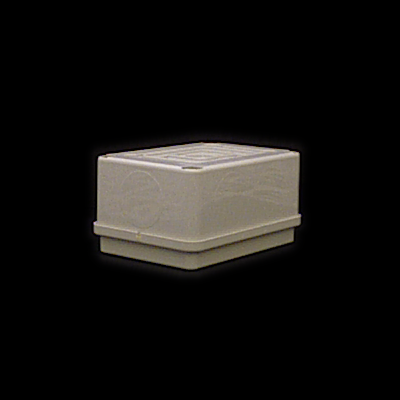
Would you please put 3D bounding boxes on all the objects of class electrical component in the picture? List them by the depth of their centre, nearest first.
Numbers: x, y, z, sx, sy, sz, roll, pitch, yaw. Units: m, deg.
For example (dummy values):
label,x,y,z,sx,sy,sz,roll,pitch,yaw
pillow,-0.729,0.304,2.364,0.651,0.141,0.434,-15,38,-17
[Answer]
label,x,y,z,sx,sy,sz,roll,pitch,yaw
electrical component,0.000,0.000,0.644,0.077,0.057,0.113,9,14,37
